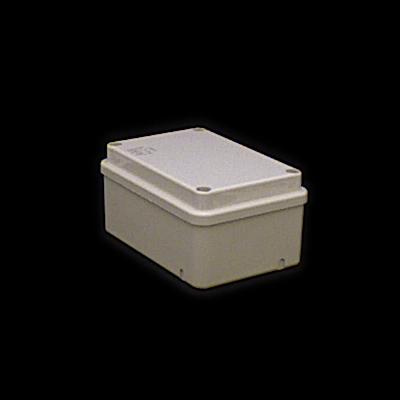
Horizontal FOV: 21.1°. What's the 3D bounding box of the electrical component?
[{"bbox_3d":[0.000,0.000,0.637,0.078,0.058,0.111,-13,25,-32],"label":"electrical component"}]
